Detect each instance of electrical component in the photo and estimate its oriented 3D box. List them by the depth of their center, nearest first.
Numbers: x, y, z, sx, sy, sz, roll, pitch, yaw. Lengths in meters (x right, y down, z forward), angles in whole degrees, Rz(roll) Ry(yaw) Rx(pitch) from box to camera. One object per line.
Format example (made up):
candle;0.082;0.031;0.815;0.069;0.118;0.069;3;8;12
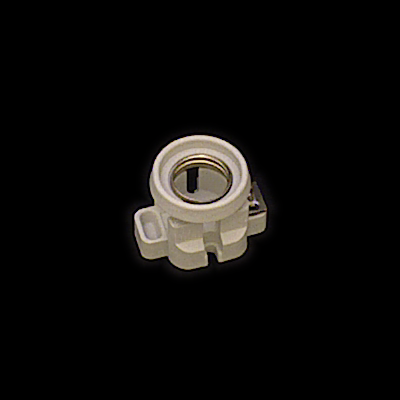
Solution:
electrical component;0.000;0.000;0.630;0.078;0.057;0.057;-13;-36;-11
